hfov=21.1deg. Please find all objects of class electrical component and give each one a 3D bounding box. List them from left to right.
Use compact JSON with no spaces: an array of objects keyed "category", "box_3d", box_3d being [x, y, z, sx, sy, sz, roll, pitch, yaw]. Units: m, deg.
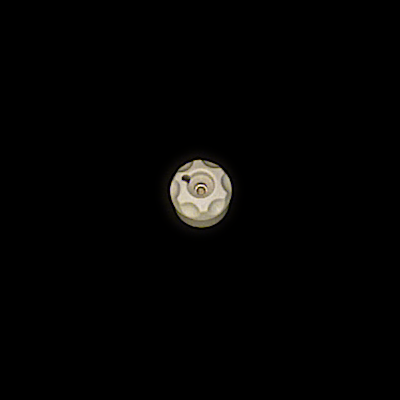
[{"category":"electrical component","box_3d":[0.000,0.000,0.634,0.035,0.035,0.061,0,-16,1]}]
